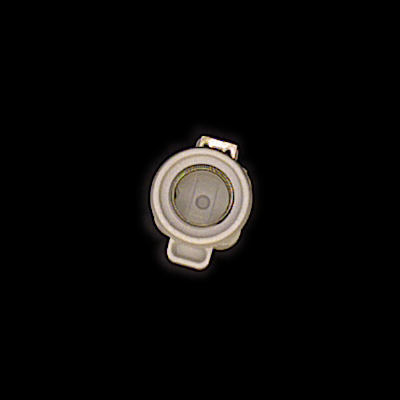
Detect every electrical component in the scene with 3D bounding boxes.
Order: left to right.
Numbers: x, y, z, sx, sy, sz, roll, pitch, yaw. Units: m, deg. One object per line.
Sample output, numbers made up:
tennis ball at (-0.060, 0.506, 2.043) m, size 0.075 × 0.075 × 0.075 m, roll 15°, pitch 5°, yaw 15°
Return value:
electrical component at (0.000, 0.000, 0.630) m, size 0.058 × 0.079 × 0.056 m, roll 15°, pitch -6°, yaw 2°
